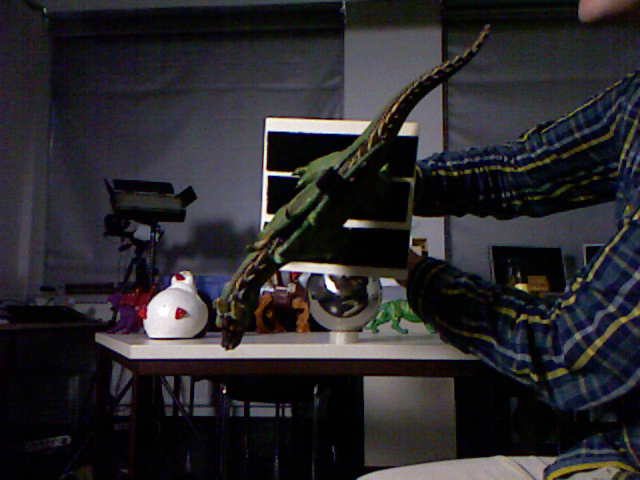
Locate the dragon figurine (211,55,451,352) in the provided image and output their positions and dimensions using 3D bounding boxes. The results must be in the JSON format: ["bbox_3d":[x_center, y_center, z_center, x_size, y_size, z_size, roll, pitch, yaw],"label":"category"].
[{"bbox_3d":[0.010,-0.053,0.561,0.123,0.409,0.245,36,11,4],"label":"dragon figurine"}]
